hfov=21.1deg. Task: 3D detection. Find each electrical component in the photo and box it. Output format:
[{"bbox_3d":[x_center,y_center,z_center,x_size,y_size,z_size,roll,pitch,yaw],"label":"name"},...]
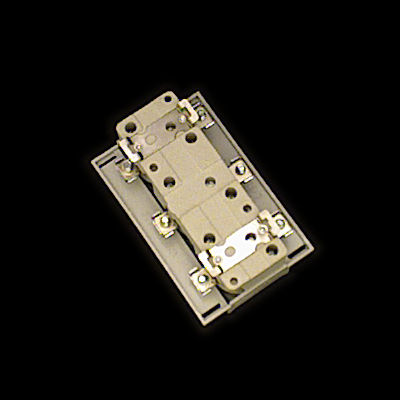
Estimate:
[{"bbox_3d":[0.000,0.000,0.633,0.079,0.121,0.062,-34,-14,-8],"label":"electrical component"}]
